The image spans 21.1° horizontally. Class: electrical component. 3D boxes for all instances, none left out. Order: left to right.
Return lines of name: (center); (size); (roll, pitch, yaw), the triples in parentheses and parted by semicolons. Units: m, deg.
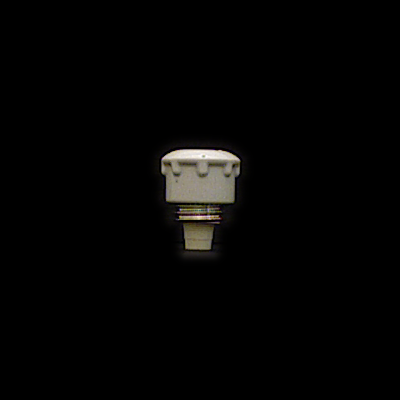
electrical component: (0.000, 0.000, 0.659); (0.048, 0.062, 0.048); (1, 2, 0)
